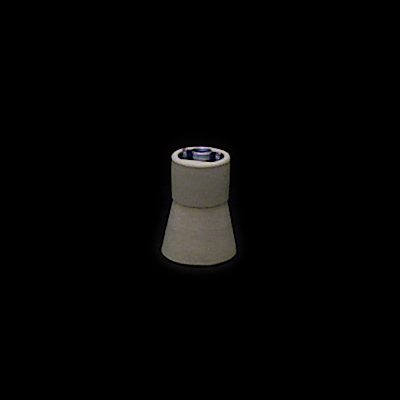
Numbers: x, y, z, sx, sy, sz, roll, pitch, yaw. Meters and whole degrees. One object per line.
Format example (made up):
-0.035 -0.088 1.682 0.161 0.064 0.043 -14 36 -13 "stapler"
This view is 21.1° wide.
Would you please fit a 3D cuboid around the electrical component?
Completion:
0.000 0.000 0.636 0.044 0.066 0.044 1 22 0 "electrical component"
